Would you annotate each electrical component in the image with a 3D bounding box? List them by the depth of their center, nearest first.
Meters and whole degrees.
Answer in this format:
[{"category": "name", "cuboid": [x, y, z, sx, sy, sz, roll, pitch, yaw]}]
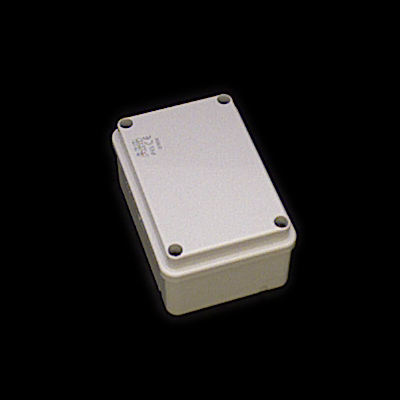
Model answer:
[{"category": "electrical component", "cuboid": [0.000, 0.000, 0.628, 0.078, 0.112, 0.057, -15, -36, -11]}]
